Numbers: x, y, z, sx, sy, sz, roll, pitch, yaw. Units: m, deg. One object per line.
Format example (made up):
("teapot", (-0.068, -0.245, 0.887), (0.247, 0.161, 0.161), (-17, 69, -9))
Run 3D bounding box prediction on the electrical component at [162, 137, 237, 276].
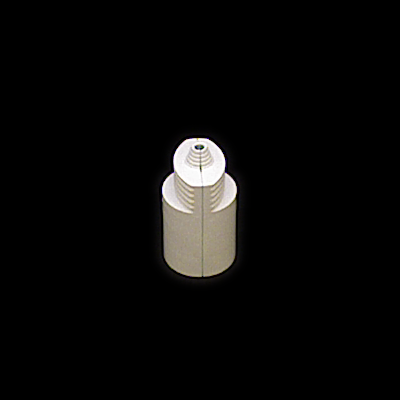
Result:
("electrical component", (0.000, 0.000, 0.624), (0.043, 0.082, 0.042), (1, 41, 0))
